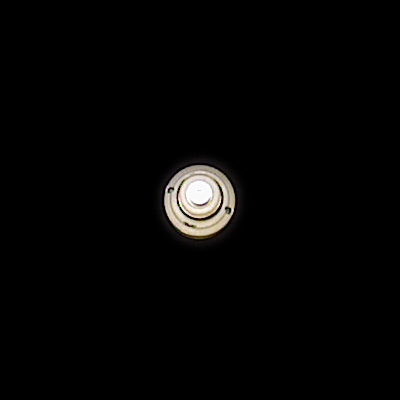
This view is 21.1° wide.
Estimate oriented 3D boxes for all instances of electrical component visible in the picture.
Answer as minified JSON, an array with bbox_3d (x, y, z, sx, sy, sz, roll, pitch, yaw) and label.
[{"bbox_3d":[0.000,0.000,0.618,0.040,0.040,0.078,0,-6,-1],"label":"electrical component"}]
